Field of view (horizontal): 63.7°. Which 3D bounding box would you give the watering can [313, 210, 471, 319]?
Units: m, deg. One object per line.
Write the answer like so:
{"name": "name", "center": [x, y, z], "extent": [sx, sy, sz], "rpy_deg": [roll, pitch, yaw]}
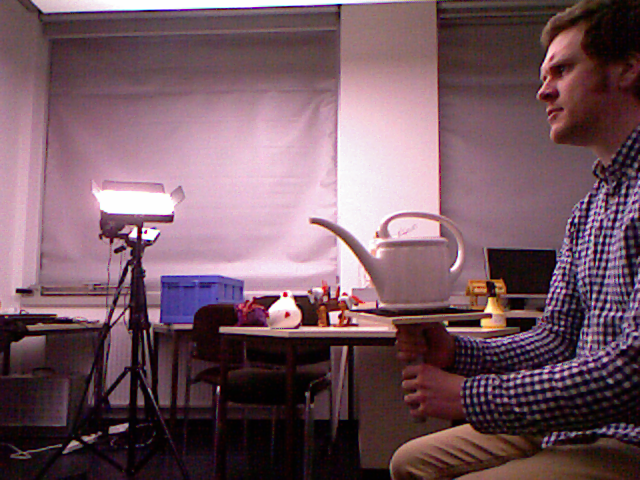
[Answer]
{"name": "watering can", "center": [0.143, 0.053, 0.982], "extent": [0.348, 0.224, 0.104], "rpy_deg": [1, -1, -23]}
